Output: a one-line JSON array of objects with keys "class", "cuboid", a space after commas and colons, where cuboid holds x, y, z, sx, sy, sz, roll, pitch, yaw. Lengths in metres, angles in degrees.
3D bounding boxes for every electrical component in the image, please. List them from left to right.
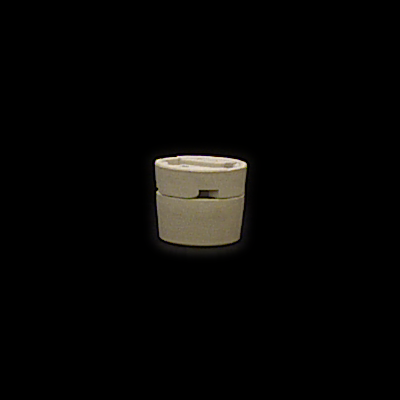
[{"class": "electrical component", "cuboid": [0.000, 0.000, 0.646, 0.055, 0.047, 0.055, 1, 11, 0]}]
